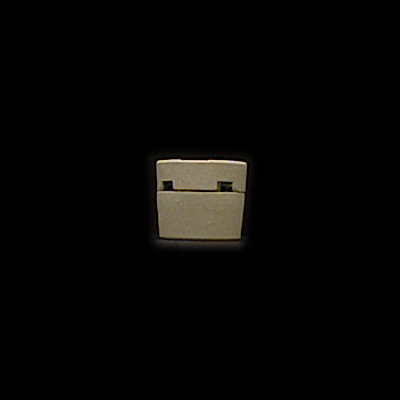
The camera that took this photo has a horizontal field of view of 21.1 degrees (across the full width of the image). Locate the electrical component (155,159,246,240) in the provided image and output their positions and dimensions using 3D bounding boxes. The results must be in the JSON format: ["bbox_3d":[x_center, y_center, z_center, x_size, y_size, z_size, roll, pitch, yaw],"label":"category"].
[{"bbox_3d":[0.000,0.000,0.651,0.055,0.047,0.055,2,1,0],"label":"electrical component"}]
